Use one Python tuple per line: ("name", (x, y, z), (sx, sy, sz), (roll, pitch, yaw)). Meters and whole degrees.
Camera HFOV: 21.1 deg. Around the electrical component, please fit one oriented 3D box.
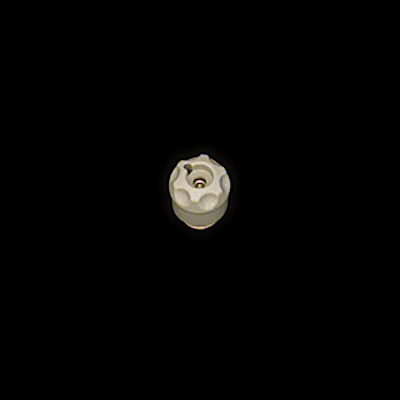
("electrical component", (0.000, 0.000, 0.634), (0.035, 0.035, 0.061), (0, -27, 0))
